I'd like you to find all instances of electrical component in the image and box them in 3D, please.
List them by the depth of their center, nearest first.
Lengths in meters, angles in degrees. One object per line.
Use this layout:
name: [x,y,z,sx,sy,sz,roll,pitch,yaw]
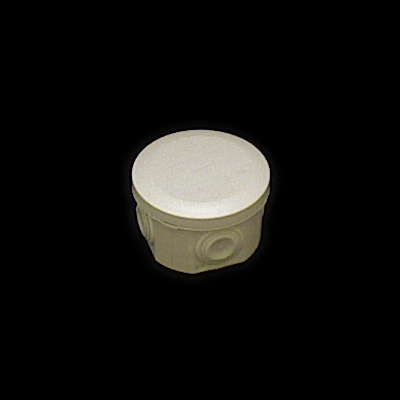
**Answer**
electrical component: [0.000,0.000,0.632,0.080,0.051,0.080,0,42,0]
